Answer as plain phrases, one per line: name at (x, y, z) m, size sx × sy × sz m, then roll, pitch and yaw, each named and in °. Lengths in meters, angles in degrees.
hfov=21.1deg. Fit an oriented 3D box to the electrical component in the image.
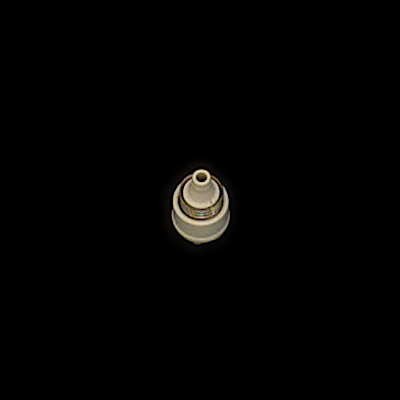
electrical component at (0.000, 0.000, 0.638) m, size 0.035 × 0.035 × 0.061 m, roll 0°, pitch -26°, yaw -1°
